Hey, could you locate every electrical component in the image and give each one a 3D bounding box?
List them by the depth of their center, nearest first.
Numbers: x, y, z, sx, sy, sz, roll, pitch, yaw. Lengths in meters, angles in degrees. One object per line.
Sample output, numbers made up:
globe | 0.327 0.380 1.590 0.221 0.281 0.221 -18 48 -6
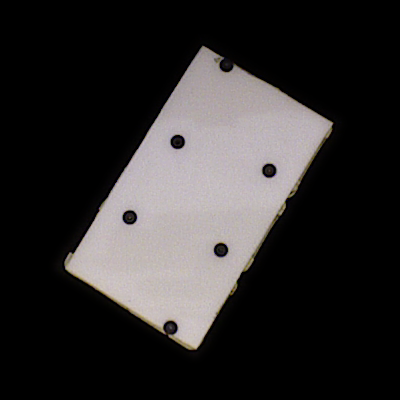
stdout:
electrical component | 0.000 0.000 0.630 0.089 0.150 0.061 32 -5 4
